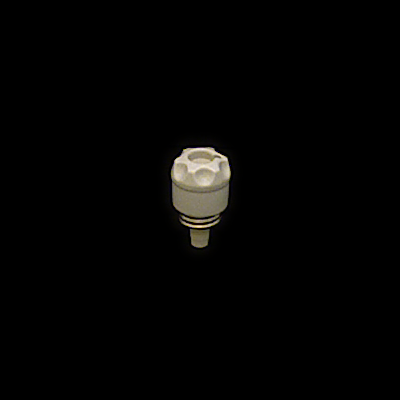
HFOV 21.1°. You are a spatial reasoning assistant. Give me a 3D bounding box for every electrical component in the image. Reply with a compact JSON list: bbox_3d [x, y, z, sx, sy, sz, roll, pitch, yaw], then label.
[{"bbox_3d":[0.000,0.000,0.640,0.035,0.062,0.034,1,33,0],"label":"electrical component"}]
